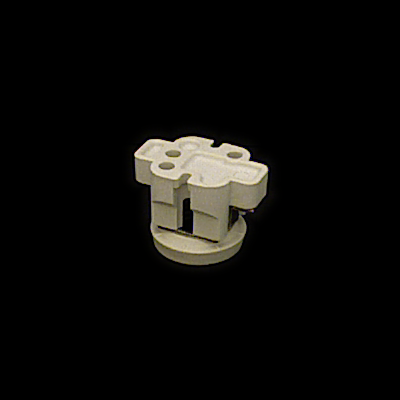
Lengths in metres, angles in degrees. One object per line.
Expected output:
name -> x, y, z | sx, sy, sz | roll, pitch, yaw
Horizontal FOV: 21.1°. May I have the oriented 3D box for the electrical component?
electrical component -> 0.000, 0.000, 0.643 | 0.078, 0.057, 0.057 | 14, 34, 18
